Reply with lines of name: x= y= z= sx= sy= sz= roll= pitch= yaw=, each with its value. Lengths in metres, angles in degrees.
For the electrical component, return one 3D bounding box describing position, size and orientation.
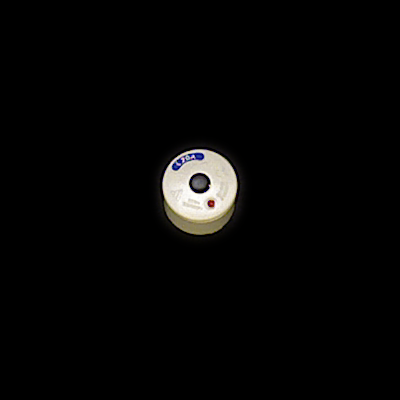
electrical component: x=0.000 y=0.000 z=0.616 sx=0.040 sy=0.040 sz=0.078 roll=0 pitch=-16 yaw=0
